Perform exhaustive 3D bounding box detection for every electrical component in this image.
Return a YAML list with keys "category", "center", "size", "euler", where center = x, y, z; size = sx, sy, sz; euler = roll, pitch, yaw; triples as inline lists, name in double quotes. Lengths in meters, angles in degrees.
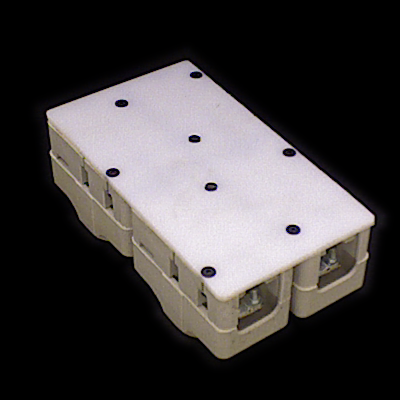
- category: "electrical component"
  center: [0.000, 0.000, 0.629]
  size: [0.105, 0.061, 0.184]
  euler: [-24, 48, -25]
